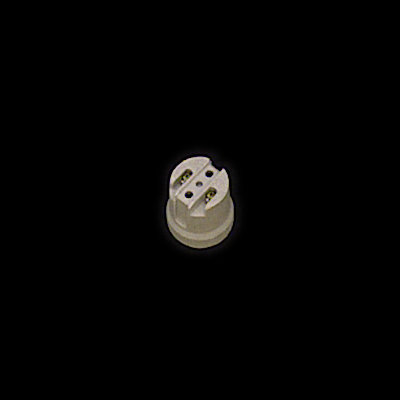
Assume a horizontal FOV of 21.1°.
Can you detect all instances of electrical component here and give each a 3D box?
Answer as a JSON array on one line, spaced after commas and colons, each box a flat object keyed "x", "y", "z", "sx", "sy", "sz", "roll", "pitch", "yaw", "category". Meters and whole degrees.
[{"x": 0.000, "y": 0.000, "z": 0.633, "sx": 0.040, "sy": 0.040, "sz": 0.046, "roll": 0, "pitch": -27, "yaw": 0, "category": "electrical component"}]
